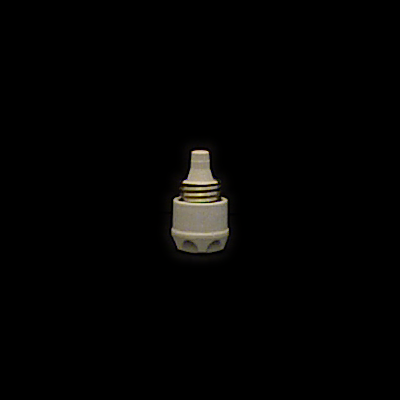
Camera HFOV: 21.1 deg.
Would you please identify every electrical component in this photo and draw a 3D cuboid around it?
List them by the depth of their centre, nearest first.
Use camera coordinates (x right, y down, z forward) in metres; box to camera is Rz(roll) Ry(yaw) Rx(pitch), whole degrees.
[{"bbox_3d":[0.000,0.000,0.655,0.035,0.062,0.035,0,11,0],"label":"electrical component"}]
